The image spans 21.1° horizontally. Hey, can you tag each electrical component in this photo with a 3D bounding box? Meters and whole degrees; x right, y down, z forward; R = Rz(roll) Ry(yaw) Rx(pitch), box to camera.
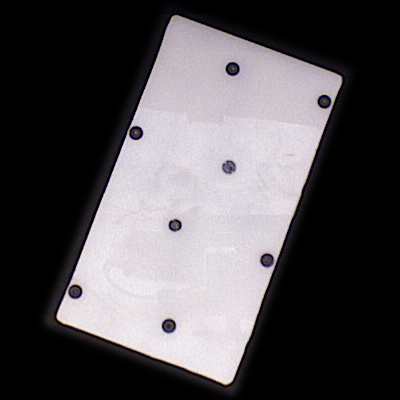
[{"bbox_3d":[0.000,0.000,0.626,0.105,0.187,0.060,20,-6,2],"label":"electrical component"}]
